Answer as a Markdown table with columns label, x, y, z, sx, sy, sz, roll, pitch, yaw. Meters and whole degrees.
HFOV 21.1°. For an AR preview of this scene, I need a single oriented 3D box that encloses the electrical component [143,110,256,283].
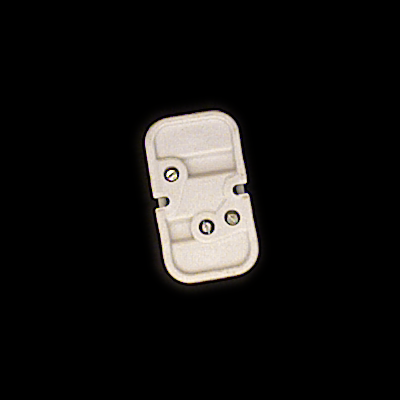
| label | x | y | z | sx | sy | sz | roll | pitch | yaw |
| --- | --- | --- | --- | --- | --- | --- | --- | --- | --- |
| electrical component | 0.000 | 0.000 | 0.637 | 0.054 | 0.095 | 0.059 | -10 | -7 | 0 |
